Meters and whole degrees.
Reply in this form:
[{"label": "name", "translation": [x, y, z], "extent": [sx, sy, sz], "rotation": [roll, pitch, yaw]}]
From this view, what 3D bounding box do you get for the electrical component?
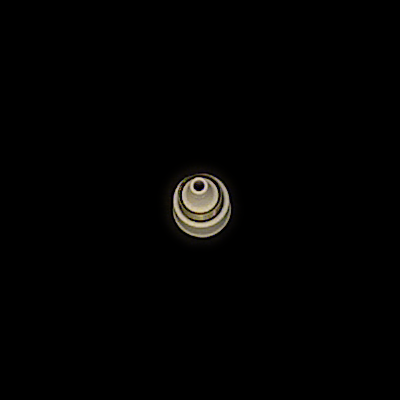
[{"label": "electrical component", "translation": [0.000, 0.000, 0.636], "extent": [0.035, 0.035, 0.061], "rotation": [0, -17, 2]}]
